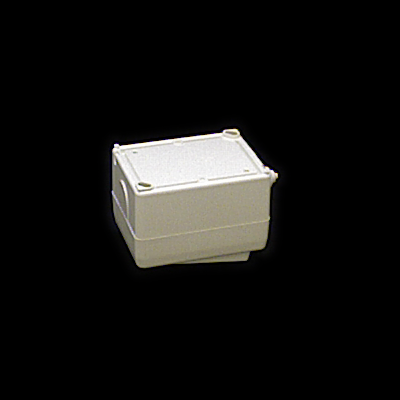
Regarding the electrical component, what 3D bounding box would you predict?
[{"bbox_3d":[0.000,0.000,0.638,0.096,0.062,0.061,-9,32,-15],"label":"electrical component"}]
